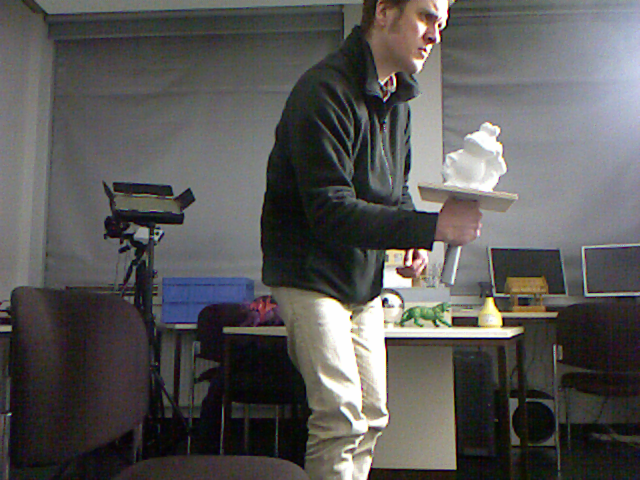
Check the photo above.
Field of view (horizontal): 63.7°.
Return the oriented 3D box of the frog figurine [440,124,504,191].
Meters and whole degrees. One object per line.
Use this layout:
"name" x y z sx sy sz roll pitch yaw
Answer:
"frog figurine" 0.351 -0.184 1.178 0.138 0.159 0.123 12 4 29
